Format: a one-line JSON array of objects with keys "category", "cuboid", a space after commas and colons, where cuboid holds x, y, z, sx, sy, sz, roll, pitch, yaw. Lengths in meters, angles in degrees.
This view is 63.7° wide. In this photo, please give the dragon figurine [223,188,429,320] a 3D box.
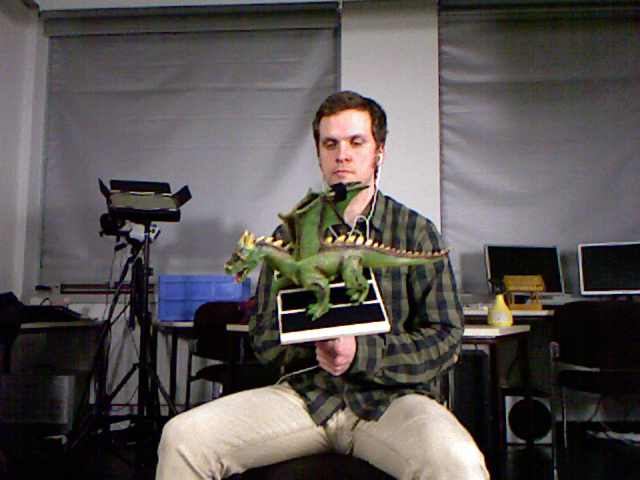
[{"category": "dragon figurine", "cuboid": [0.024, 0.010, 0.948, 0.413, 0.237, 0.125, -18, 44, -15]}]
